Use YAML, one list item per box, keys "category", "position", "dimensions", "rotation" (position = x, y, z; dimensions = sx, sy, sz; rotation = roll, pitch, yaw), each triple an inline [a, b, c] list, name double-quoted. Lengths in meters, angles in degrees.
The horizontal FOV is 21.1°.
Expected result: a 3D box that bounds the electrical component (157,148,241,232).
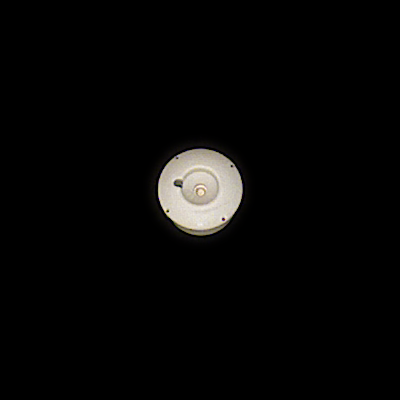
- category: "electrical component"
  position: [0.000, 0.000, 0.632]
  dimensions: [0.048, 0.048, 0.061]
  rotation: [0, -16, 1]
